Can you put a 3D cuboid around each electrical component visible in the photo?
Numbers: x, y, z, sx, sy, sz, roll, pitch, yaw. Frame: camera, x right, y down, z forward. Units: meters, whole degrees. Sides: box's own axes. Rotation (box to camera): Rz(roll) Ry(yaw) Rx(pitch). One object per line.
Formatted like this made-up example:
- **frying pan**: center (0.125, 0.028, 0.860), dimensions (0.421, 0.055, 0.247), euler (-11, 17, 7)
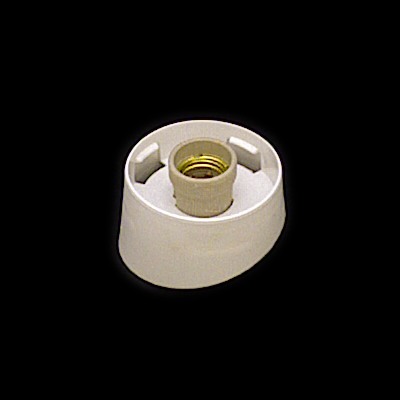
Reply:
- **electrical component**: center (0.000, 0.000, 0.630), dimensions (0.099, 0.065, 0.098), euler (0, 42, 0)
